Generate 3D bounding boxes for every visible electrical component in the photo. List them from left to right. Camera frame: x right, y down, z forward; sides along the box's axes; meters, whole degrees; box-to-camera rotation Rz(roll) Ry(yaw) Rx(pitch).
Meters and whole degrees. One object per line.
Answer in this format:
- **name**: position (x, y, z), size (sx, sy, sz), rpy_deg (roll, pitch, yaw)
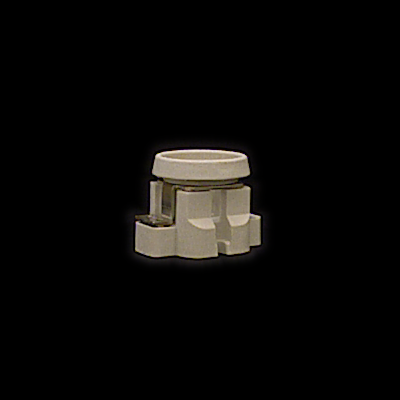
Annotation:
- **electrical component**: position (0.000, 0.000, 0.642), size (0.079, 0.057, 0.057), rpy_deg (-6, 13, -32)
